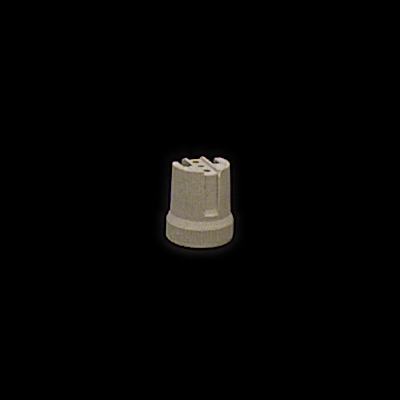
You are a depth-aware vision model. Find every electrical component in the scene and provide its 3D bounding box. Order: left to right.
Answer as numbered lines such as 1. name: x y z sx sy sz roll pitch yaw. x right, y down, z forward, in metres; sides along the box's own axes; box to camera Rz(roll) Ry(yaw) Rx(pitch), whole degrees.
1. electrical component: 0.000 0.000 0.643 0.040 0.046 0.040 2 22 0
